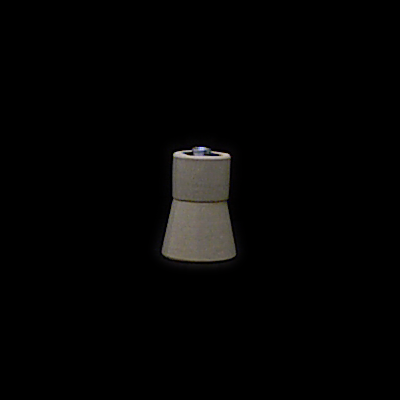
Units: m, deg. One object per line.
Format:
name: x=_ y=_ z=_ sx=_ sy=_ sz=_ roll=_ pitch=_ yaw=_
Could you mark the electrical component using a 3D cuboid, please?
electrical component: x=0.000 y=0.000 z=0.644 sx=0.044 sy=0.066 sz=0.044 roll=2 pitch=10 yaw=0
